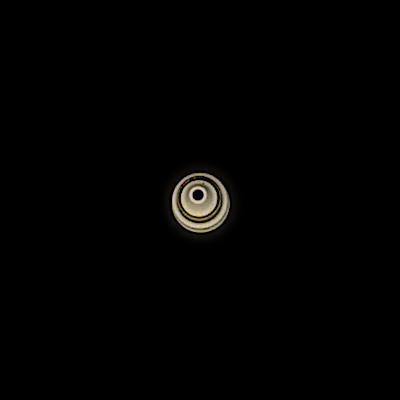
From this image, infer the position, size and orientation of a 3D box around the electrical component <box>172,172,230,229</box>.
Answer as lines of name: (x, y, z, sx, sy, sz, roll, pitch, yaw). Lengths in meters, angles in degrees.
electrical component: (0.000, 0.000, 0.637, 0.035, 0.035, 0.061, 0, -7, 1)
